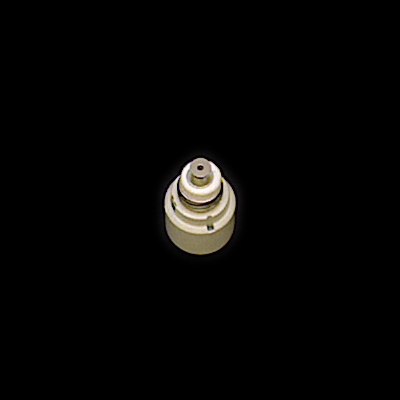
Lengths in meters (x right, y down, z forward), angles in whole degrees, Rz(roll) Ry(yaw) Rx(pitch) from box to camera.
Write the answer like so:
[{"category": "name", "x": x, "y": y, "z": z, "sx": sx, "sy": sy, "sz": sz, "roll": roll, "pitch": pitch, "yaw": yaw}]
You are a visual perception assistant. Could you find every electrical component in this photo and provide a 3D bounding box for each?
[{"category": "electrical component", "x": 0.000, "y": 0.000, "z": 0.619, "sx": 0.040, "sy": 0.040, "sz": 0.078, "roll": 0, "pitch": -27, "yaw": -1}]
